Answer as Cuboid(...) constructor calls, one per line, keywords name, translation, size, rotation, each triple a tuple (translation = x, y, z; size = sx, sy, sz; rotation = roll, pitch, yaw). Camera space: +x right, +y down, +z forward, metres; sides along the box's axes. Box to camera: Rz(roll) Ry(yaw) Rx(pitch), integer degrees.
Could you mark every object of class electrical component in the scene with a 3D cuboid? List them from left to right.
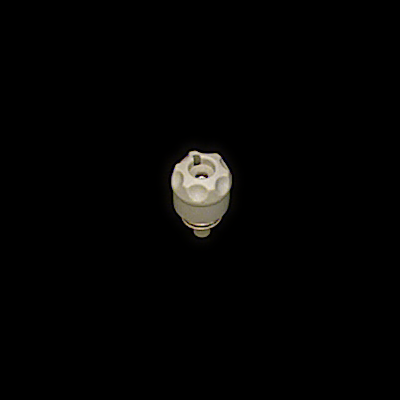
Cuboid(name="electrical component", translation=(0.000, 0.000, 0.637), size=(0.035, 0.035, 0.062), rotation=(0, -37, 0))
